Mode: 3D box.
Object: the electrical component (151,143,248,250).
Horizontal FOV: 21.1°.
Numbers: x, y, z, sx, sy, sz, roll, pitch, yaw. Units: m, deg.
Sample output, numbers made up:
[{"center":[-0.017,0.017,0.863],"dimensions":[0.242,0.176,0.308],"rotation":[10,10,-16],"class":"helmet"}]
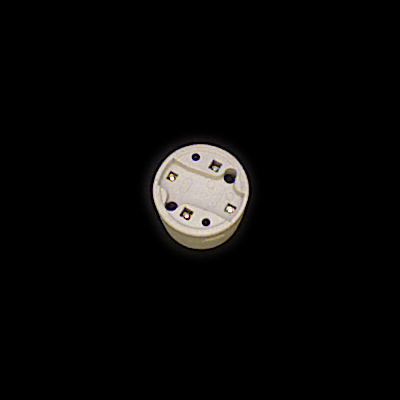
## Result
[{"center":[0.000,0.000,0.635],"dimensions":[0.055,0.056,0.047],"rotation":[0,-17,1],"class":"electrical component"}]
